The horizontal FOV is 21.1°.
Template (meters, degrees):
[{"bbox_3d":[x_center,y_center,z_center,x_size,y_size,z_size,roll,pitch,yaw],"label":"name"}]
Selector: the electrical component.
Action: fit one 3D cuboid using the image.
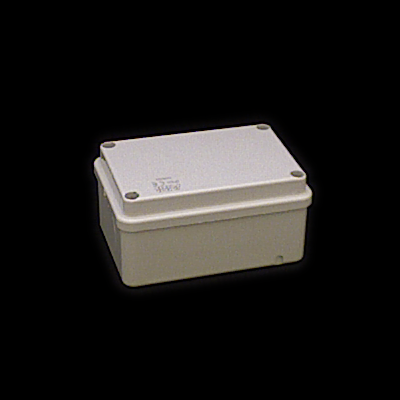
[{"bbox_3d":[0.000,0.000,0.633,0.113,0.058,0.077,-8,32,-15],"label":"electrical component"}]
